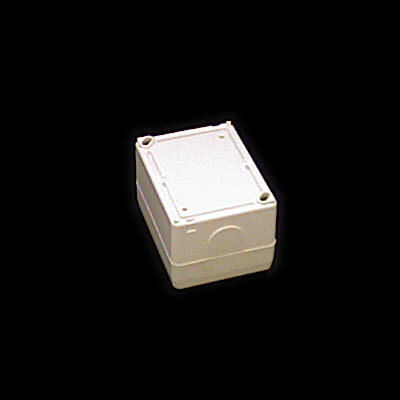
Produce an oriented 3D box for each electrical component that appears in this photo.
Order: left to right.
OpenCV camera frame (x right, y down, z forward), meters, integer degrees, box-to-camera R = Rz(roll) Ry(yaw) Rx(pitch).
[{"bbox_3d":[0.000,0.000,0.633,0.062,0.061,0.095,-12,43,-14],"label":"electrical component"}]
